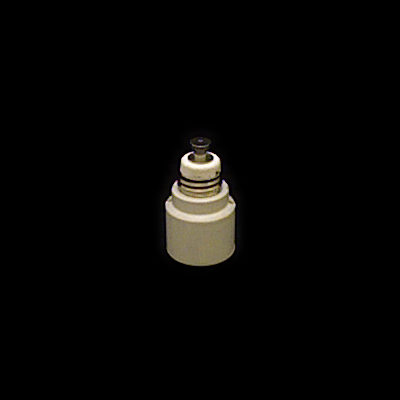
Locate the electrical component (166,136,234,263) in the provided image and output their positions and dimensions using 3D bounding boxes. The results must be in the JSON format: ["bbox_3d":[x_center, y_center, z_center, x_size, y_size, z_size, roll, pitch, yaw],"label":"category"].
[{"bbox_3d":[0.000,0.000,0.629,0.040,0.079,0.039,0,32,0],"label":"electrical component"}]
